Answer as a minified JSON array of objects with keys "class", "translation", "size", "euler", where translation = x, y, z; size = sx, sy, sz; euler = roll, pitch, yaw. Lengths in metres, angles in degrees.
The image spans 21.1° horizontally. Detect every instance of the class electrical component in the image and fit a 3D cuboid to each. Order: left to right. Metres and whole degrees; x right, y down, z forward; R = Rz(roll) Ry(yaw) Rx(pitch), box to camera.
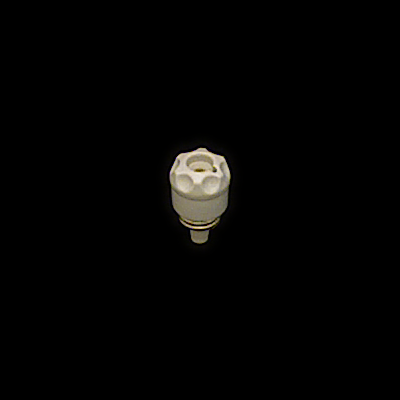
[{"class":"electrical component","translation":[0.000,0.000,0.636],"size":[0.035,0.062,0.035],"euler":[0,43,0]}]
